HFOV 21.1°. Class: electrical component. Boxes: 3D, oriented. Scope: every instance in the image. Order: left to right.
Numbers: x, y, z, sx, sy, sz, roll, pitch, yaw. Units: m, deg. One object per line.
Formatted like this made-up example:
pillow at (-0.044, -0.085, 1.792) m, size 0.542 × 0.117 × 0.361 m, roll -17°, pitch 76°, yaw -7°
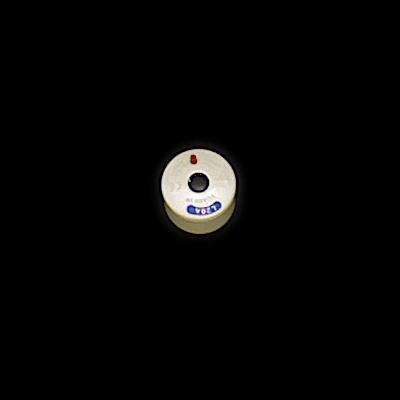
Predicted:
electrical component at (0.000, 0.000, 0.618) m, size 0.040 × 0.040 × 0.078 m, roll 0°, pitch -17°, yaw 0°
